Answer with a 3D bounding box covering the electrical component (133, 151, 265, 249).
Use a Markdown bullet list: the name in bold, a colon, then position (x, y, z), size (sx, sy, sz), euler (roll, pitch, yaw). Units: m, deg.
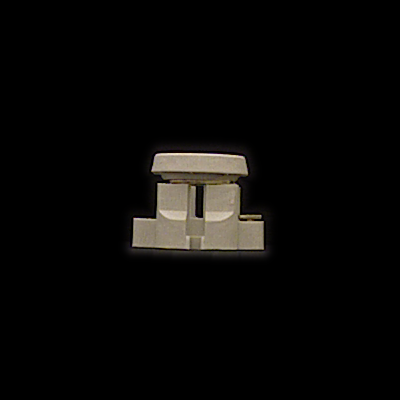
- **electrical component**: position (0.000, 0.000, 0.650), size (0.078, 0.057, 0.058), euler (1, 1, 5)
